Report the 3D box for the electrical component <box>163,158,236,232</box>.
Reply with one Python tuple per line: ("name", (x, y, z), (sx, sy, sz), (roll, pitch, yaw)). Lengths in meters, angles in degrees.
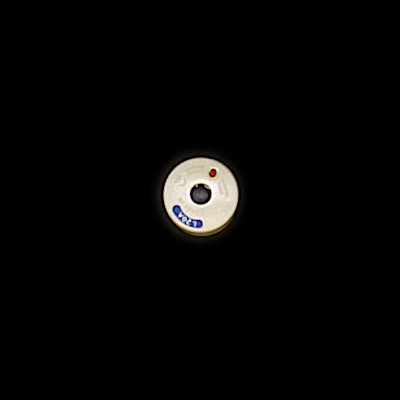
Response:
("electrical component", (0.000, 0.000, 0.618), (0.040, 0.040, 0.078), (0, -7, 0))
